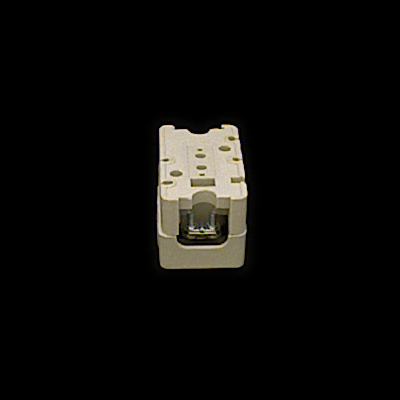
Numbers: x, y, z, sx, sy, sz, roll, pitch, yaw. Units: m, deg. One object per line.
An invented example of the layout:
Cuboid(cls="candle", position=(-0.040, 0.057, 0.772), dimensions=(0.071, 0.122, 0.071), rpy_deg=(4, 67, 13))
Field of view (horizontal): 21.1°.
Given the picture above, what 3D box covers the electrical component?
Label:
Cuboid(cls="electrical component", position=(0.000, 0.000, 0.643), dimensions=(0.050, 0.056, 0.088), rpy_deg=(0, 33, -3))
